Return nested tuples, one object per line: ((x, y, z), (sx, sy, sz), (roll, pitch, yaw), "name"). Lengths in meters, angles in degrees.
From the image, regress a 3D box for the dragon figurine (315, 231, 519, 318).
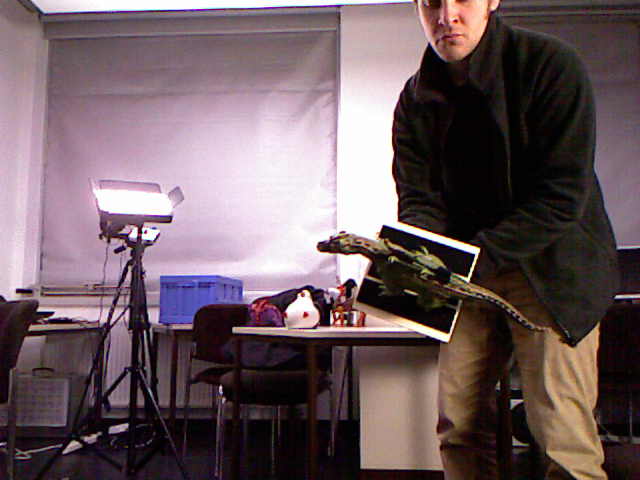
((0.191, 0.066, 0.934), (0.412, 0.123, 0.242), (18, -3, 7), "dragon figurine")
